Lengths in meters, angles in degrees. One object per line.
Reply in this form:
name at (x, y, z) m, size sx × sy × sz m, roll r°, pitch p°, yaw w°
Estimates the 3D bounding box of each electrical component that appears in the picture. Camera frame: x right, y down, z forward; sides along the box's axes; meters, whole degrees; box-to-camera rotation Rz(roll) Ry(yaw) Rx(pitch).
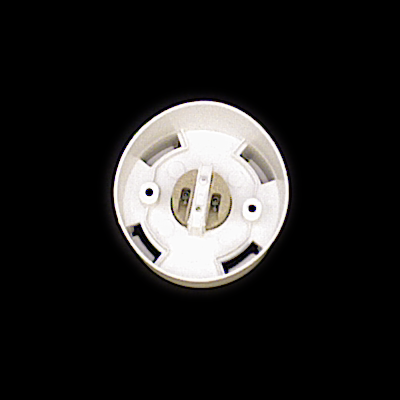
electrical component at (0.000, 0.000, 0.624) m, size 0.099 × 0.099 × 0.064 m, roll 0°, pitch -18°, yaw 1°
